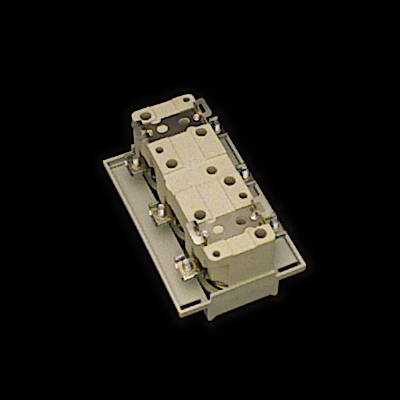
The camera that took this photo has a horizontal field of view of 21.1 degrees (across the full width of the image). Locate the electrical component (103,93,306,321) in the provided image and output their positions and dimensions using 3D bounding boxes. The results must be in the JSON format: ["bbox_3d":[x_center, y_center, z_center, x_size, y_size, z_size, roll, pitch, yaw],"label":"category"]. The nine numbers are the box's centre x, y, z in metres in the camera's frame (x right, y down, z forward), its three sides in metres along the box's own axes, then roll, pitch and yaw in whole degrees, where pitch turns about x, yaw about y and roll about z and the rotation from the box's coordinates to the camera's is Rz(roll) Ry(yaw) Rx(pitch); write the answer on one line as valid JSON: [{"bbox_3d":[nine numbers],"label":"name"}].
[{"bbox_3d":[0.000,0.000,0.634,0.079,0.120,0.063,-20,-34,-14],"label":"electrical component"}]
